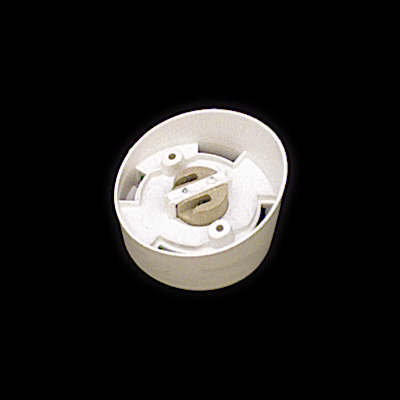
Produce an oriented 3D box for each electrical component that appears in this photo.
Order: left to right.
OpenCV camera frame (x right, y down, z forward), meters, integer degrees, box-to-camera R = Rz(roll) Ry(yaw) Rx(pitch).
[{"bbox_3d":[0.000,0.000,0.626,0.099,0.098,0.064,0,-38,-1],"label":"electrical component"}]
